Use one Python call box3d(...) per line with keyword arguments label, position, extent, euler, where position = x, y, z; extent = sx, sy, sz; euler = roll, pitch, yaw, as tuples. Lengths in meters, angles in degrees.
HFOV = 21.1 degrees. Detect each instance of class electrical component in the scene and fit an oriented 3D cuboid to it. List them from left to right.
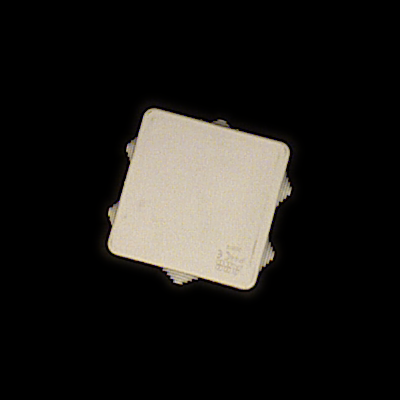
box3d(label="electrical component", position=(0.000, 0.000, 0.642), extent=(0.100, 0.100, 0.048), euler=(15, -6, 1))
